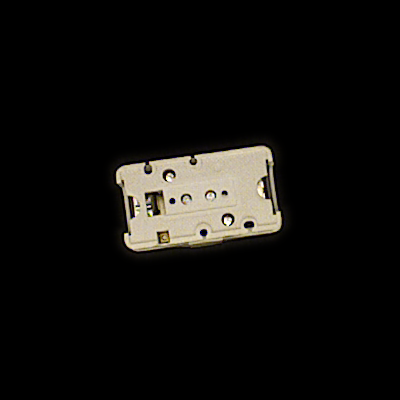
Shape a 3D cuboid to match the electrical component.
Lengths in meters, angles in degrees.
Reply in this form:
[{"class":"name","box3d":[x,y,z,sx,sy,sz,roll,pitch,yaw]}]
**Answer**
[{"class":"electrical component","box3d":[0.000,0.000,0.637,0.089,0.050,0.055,-8,-5,0]}]
